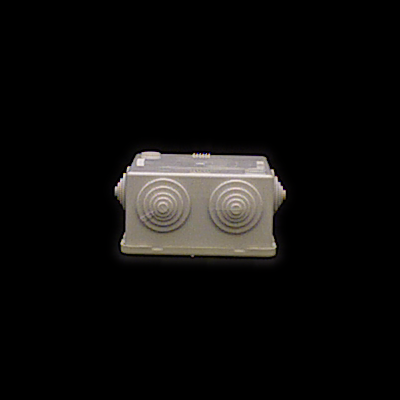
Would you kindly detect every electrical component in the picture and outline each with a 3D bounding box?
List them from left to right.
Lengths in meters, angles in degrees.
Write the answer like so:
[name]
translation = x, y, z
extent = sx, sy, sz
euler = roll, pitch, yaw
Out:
[electrical component]
translation = 0.000, 0.000, 0.645
extent = 0.100, 0.049, 0.099
euler = 1, 11, 0
